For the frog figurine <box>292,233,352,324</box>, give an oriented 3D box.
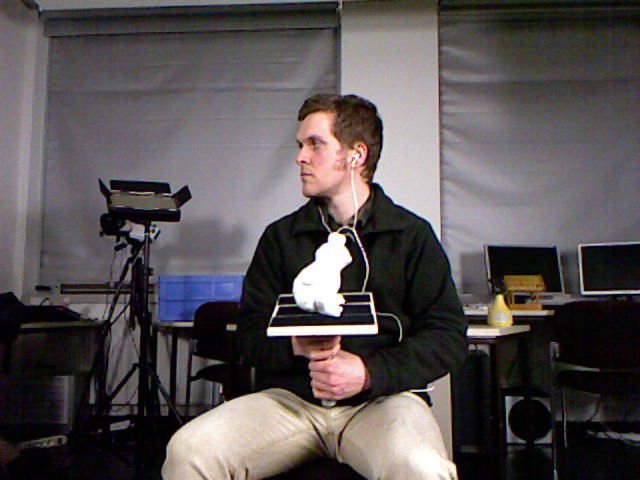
[{"bbox_3d":[0.003,0.067,1.018,0.123,0.158,0.139,4,15,28],"label":"frog figurine"}]
